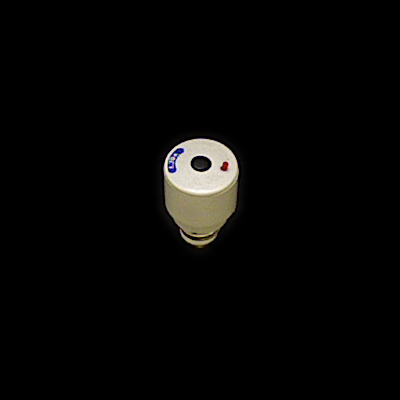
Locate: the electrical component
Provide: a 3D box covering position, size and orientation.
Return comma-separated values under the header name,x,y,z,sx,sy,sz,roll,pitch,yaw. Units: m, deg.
name,x,y,z,sx,sy,sz,roll,pitch,yaw
electrical component,0.000,0.000,0.619,0.040,0.040,0.078,0,-38,-1
